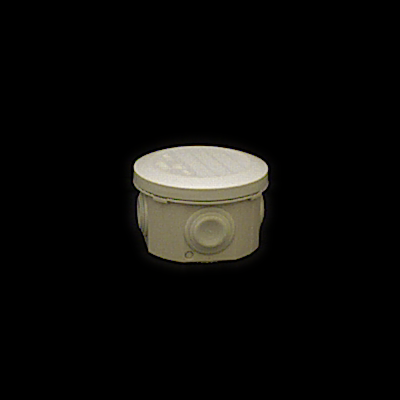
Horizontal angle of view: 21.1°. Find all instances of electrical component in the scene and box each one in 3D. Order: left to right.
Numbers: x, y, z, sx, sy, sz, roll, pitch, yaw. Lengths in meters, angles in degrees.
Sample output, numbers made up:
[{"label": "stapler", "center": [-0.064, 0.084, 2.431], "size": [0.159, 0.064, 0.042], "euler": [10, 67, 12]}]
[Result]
[{"label": "electrical component", "center": [0.000, 0.000, 0.642], "size": [0.080, 0.051, 0.079], "euler": [1, 21, 0]}]
